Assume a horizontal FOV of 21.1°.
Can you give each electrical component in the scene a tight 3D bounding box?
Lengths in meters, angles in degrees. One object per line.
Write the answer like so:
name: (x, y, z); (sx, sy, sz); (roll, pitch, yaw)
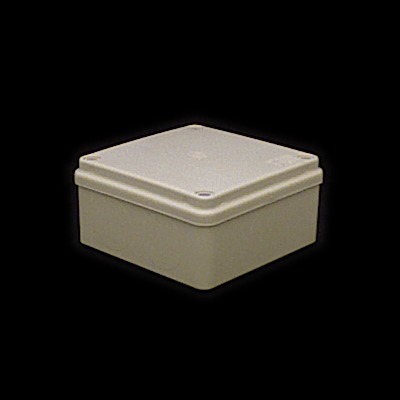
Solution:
electrical component: (0.000, 0.000, 0.640); (0.107, 0.057, 0.108); (18, 27, 39)
